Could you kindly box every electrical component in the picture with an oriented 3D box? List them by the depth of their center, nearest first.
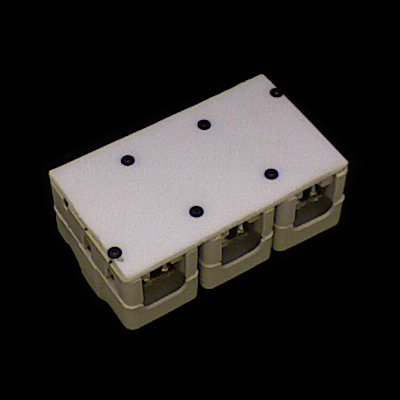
[{"bbox_3d":[0.000,0.000,0.635,0.149,0.088,0.063,-26,-33,-20],"label":"electrical component"}]
